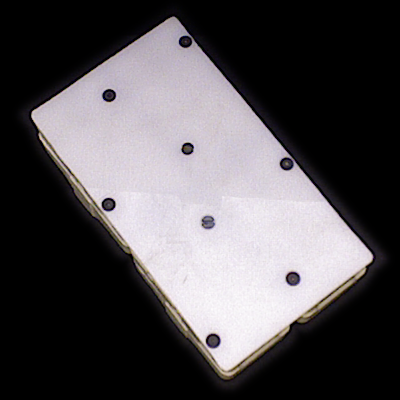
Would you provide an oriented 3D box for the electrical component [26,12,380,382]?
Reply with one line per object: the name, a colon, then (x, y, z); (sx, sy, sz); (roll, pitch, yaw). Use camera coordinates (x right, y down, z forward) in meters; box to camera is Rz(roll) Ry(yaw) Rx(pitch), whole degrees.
electrical component: (0.000, 0.000, 0.625); (0.106, 0.186, 0.060); (-36, -13, -10)
